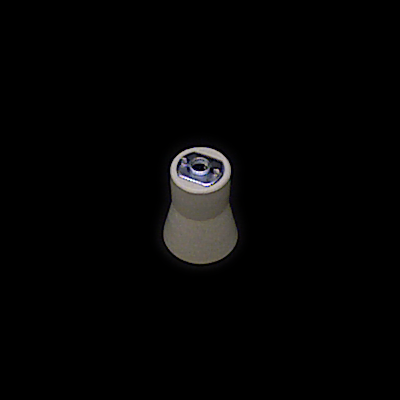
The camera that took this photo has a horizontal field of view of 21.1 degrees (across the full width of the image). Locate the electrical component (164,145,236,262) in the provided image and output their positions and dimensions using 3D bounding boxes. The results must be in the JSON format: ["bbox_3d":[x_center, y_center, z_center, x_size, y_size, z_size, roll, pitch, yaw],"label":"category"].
[{"bbox_3d":[0.000,0.000,0.627,0.044,0.044,0.065,0,-39,-1],"label":"electrical component"}]
